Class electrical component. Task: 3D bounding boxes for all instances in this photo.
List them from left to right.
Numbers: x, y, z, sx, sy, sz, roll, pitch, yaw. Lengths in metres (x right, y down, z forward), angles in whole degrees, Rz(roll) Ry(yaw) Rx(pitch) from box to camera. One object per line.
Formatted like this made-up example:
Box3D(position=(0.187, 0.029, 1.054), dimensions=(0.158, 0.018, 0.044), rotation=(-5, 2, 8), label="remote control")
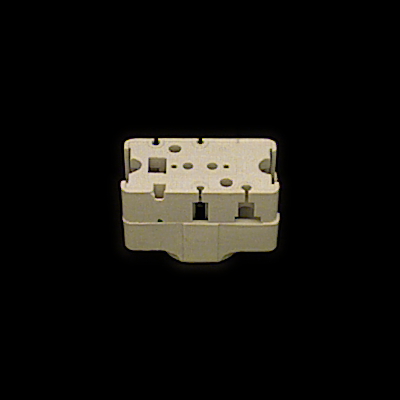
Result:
Box3D(position=(0.000, 0.000, 0.639), dimensions=(0.089, 0.056, 0.050), rotation=(0, 43, 0), label="electrical component")
